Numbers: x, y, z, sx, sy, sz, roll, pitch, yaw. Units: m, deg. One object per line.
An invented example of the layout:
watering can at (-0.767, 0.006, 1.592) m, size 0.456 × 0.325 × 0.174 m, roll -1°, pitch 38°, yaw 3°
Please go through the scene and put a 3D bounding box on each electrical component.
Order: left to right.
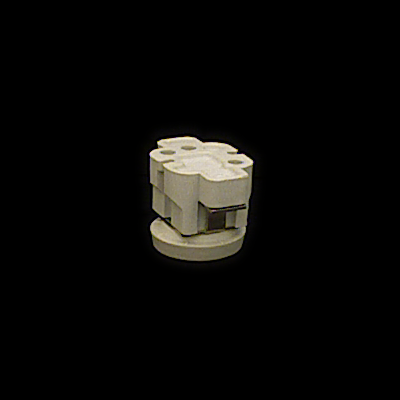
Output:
electrical component at (0.000, 0.000, 0.646) m, size 0.058 × 0.057 × 0.077 m, roll -9°, pitch 25°, yaw -26°
